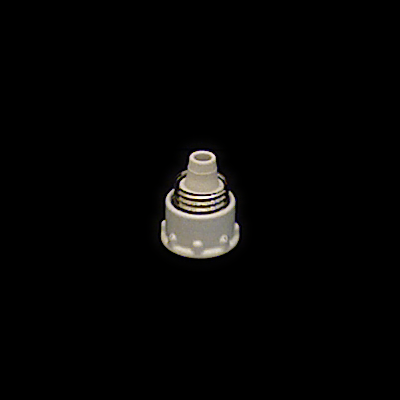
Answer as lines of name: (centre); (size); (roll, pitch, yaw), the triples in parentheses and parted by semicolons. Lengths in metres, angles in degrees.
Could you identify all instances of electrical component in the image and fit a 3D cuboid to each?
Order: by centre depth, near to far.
electrical component: (0.000, 0.000, 0.642); (0.048, 0.063, 0.047); (2, 32, -1)
